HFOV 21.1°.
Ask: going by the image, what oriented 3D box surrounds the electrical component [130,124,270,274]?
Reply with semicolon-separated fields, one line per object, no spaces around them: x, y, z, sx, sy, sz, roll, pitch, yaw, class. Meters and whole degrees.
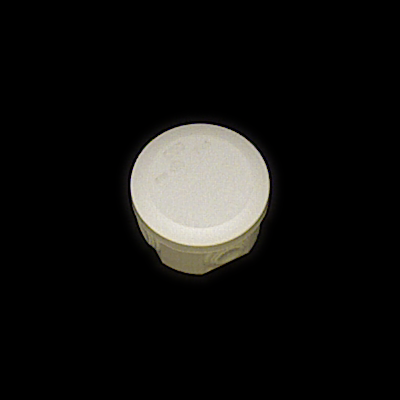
0.000;0.000;0.631;0.080;0.080;0.050;0;-27;-1;electrical component
